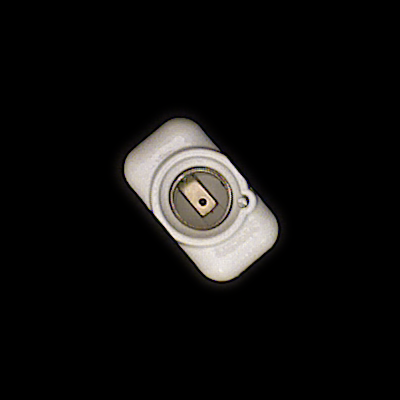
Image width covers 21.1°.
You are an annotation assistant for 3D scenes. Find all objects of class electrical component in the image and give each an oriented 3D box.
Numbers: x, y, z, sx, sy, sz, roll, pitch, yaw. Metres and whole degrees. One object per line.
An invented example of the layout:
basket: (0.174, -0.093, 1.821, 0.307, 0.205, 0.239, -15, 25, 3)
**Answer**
electrical component: (0.000, 0.000, 0.635, 0.054, 0.095, 0.059, -40, -4, -2)
